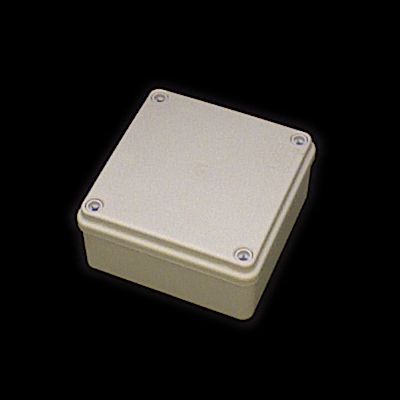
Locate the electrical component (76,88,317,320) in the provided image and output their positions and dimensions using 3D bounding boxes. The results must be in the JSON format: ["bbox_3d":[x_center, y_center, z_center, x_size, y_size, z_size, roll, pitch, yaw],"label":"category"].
[{"bbox_3d":[0.000,0.000,0.630,0.108,0.108,0.056,18,-36,13],"label":"electrical component"}]
